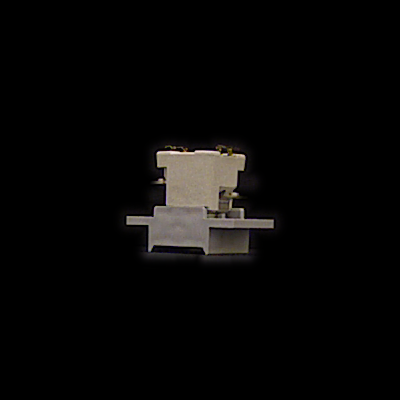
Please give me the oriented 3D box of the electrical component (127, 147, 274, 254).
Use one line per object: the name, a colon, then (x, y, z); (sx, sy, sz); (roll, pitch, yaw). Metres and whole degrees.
electrical component: (0.000, 0.000, 0.650); (0.080, 0.064, 0.042); (1, 1, 36)
